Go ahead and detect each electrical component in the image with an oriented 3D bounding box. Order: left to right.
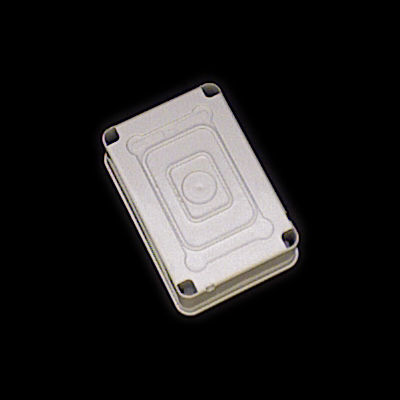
[{"bbox_3d":[0.000,0.000,0.628,0.078,0.113,0.057,-25,-16,-7],"label":"electrical component"}]
